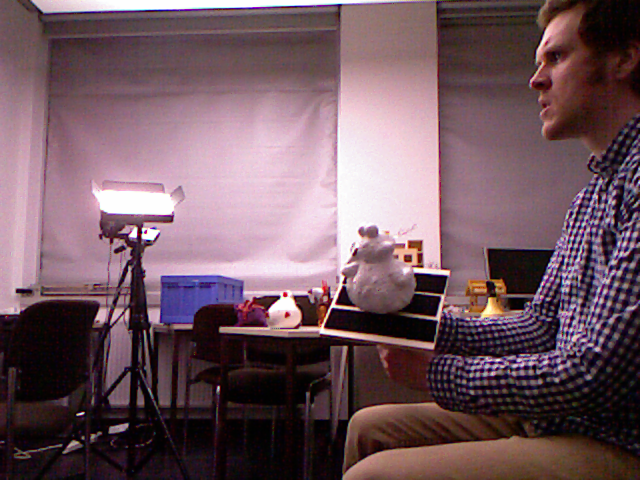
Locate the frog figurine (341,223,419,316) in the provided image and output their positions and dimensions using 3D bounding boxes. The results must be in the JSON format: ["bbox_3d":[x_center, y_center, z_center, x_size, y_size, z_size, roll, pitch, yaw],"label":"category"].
[{"bbox_3d":[0.105,0.053,0.912,0.138,0.156,0.125,17,48,29],"label":"frog figurine"}]
